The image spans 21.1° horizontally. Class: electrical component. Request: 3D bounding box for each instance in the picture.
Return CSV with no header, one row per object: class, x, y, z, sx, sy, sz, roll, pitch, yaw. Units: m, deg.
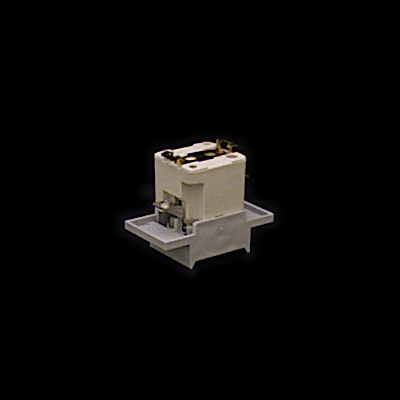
electrical component,0.000,0.000,0.637,0.081,0.064,0.042,-14,26,-35
